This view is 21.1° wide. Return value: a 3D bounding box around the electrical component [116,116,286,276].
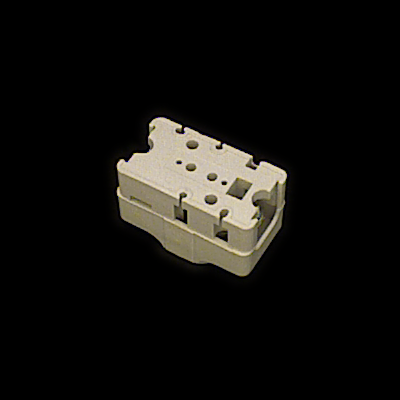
[{"bbox_3d":[0.000,0.000,0.638,0.089,0.050,0.056,25,-34,17],"label":"electrical component"}]
